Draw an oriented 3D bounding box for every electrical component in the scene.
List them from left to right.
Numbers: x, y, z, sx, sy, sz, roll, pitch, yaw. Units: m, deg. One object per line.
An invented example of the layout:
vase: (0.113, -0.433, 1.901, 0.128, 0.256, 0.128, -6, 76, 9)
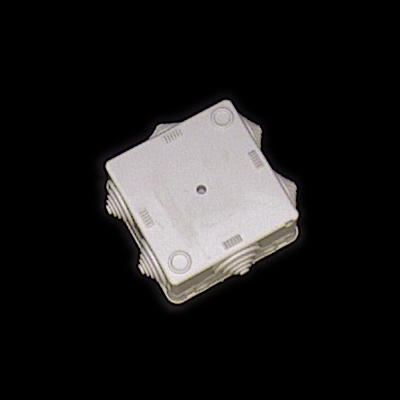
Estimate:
electrical component: (0.000, 0.000, 0.631, 0.100, 0.100, 0.048, -28, -15, -8)
